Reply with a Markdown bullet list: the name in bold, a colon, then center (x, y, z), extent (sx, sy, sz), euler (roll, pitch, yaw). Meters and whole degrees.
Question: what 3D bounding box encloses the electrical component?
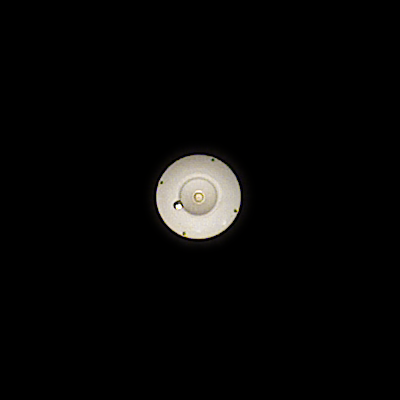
- **electrical component**: center (0.000, 0.000, 0.634), extent (0.048, 0.048, 0.061), euler (0, -5, 1)
